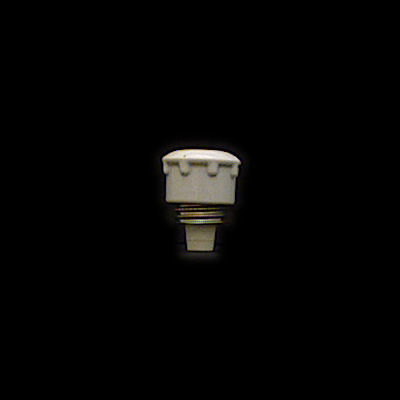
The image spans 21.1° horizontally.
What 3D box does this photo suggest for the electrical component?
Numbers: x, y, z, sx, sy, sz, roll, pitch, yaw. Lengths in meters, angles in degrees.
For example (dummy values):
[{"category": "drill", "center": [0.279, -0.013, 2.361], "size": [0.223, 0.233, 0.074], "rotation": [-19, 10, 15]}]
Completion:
[{"category": "electrical component", "center": [0.000, 0.000, 0.656], "size": [0.048, 0.062, 0.048], "rotation": [2, 1, 1]}]
